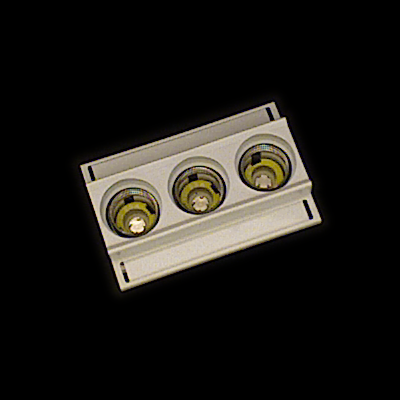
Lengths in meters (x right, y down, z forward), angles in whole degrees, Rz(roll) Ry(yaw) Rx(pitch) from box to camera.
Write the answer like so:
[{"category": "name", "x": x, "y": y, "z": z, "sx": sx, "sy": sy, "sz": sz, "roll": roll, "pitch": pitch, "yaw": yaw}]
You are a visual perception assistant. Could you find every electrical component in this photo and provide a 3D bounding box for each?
[{"category": "electrical component", "x": 0.000, "y": 0.000, "z": 0.637, "sx": 0.121, "sy": 0.079, "sz": 0.063, "roll": -18, "pitch": -17, "yaw": -5}]
